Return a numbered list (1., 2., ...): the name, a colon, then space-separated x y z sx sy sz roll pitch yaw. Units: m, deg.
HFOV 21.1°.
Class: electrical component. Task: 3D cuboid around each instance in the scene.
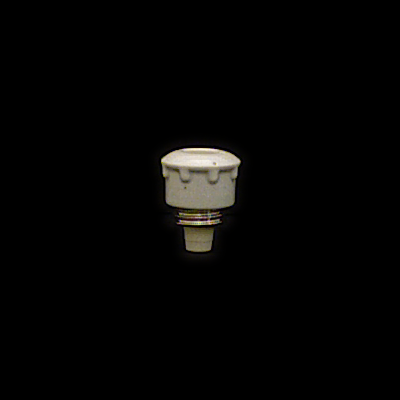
1. electrical component: 0.000 0.000 0.654 0.048 0.062 0.048 1 11 0
